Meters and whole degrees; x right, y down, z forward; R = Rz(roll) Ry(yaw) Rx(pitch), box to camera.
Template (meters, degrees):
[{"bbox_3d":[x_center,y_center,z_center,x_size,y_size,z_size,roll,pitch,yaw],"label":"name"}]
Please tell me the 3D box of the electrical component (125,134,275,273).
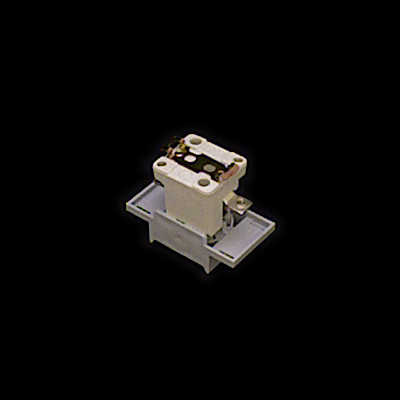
[{"bbox_3d":[0.000,0.000,0.630,0.080,0.064,0.042,27,49,26],"label":"electrical component"}]
